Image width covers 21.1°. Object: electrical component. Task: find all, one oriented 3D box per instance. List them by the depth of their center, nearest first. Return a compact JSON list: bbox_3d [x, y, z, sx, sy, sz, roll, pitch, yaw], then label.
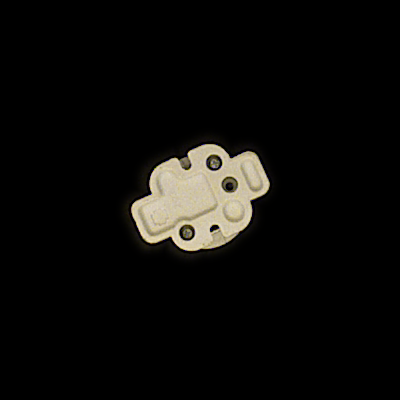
[{"bbox_3d":[0.000,0.000,0.637,0.078,0.058,0.057,-25,-4,0],"label":"electrical component"}]
